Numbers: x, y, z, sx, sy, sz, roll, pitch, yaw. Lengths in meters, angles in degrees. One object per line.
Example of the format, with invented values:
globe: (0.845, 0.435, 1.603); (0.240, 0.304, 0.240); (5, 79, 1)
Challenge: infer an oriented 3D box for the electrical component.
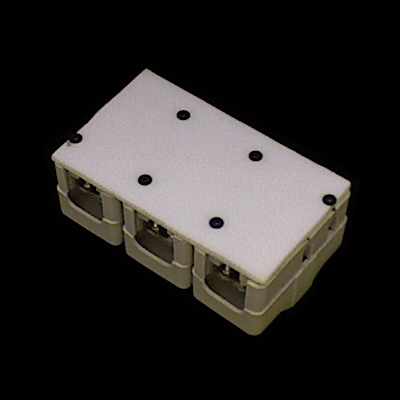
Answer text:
electrical component: (0.000, 0.000, 0.633); (0.149, 0.088, 0.062); (31, -31, 21)
